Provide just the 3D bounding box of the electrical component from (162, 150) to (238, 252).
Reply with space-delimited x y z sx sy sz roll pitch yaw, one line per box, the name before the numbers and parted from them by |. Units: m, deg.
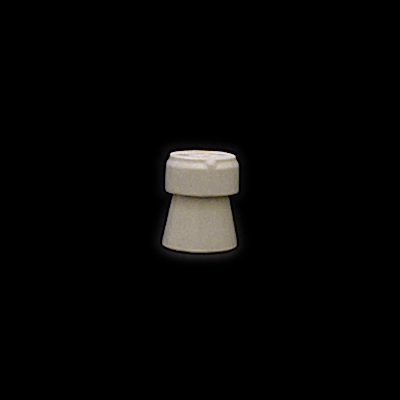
electrical component | 0.000 0.000 0.645 0.045 0.055 0.044 2 11 0
